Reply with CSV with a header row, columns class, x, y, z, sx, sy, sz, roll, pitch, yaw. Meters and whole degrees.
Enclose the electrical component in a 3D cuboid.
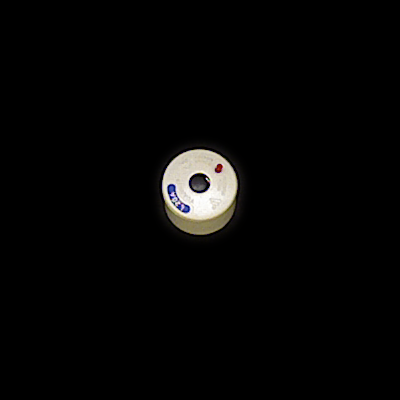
class,x,y,z,sx,sy,sz,roll,pitch,yaw
electrical component,0.000,0.000,0.617,0.040,0.040,0.078,0,-17,0
